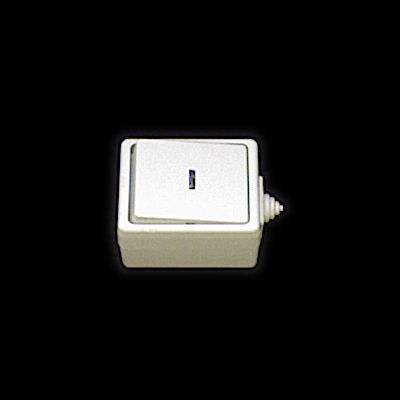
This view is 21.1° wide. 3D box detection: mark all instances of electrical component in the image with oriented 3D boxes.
[{"bbox_3d":[0.000,0.000,0.626,0.096,0.062,0.061,0,-27,0],"label":"electrical component"}]
